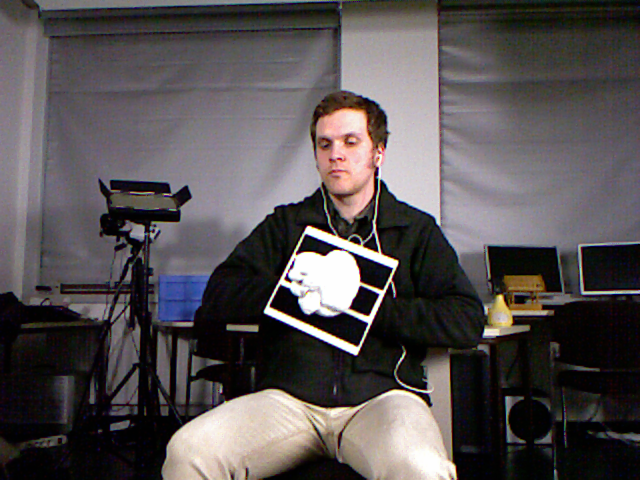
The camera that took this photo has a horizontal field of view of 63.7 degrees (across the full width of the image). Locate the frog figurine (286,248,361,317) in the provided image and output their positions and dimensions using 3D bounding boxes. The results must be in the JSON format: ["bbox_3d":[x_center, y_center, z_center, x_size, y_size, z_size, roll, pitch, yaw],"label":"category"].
[{"bbox_3d":[0.009,0.072,0.945,0.138,0.124,0.158,-42,-18,-4],"label":"frog figurine"}]
